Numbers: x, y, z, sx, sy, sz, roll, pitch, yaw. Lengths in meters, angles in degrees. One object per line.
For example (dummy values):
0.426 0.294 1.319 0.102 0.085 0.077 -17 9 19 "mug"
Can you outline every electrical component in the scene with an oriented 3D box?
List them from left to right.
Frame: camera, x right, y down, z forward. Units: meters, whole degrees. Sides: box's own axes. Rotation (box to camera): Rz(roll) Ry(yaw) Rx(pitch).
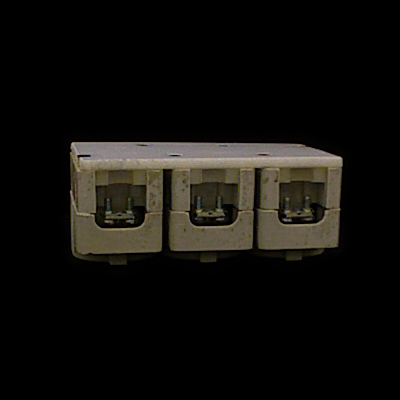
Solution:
0.000 0.000 0.648 0.150 0.062 0.088 -1 10 -10 "electrical component"
